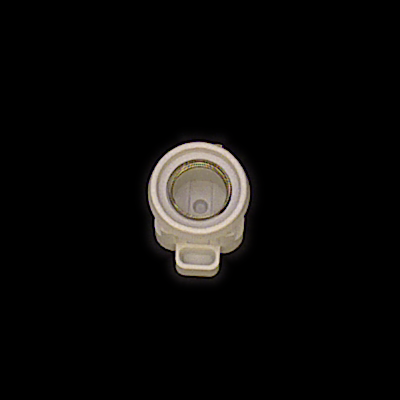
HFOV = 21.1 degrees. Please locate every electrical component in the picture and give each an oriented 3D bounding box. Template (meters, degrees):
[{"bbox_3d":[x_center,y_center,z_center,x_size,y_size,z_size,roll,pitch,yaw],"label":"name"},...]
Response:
[{"bbox_3d":[0.000,0.000,0.629,0.058,0.079,0.056,3,-17,1],"label":"electrical component"}]
